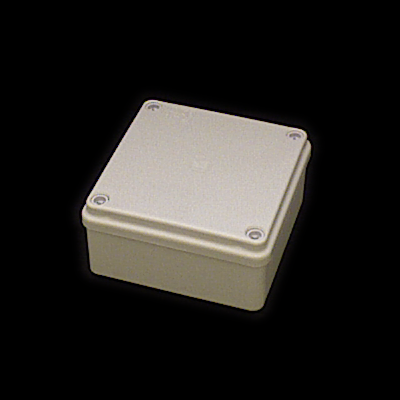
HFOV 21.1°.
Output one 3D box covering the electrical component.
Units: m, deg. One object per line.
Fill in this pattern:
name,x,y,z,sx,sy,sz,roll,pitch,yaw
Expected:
electrical component,0.000,0.000,0.631,0.108,0.056,0.108,12,44,12
